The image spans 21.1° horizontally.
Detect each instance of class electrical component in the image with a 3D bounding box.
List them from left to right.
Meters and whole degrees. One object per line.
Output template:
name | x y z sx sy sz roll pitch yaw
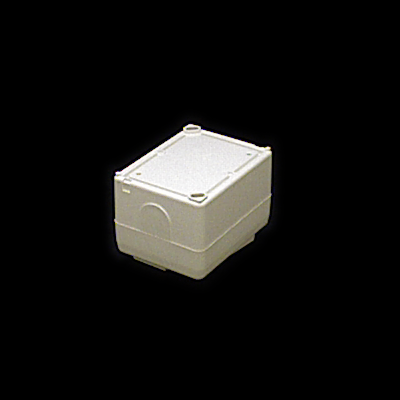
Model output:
electrical component | 0.000 0.000 0.641 0.061 0.062 0.095 19 36 28
